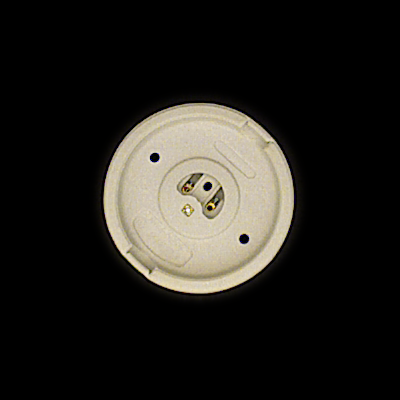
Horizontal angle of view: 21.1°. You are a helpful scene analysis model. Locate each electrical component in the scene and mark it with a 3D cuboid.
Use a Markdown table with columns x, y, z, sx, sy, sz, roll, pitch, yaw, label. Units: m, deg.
| x | y | z | sx | sy | sz | roll | pitch | yaw | label |
| --- | --- | --- | --- | --- | --- | --- | --- | --- | --- |
| 0.000 | 0.000 | 0.635 | 0.108 | 0.108 | 0.060 | 0 | -6 | 0 | electrical component |
